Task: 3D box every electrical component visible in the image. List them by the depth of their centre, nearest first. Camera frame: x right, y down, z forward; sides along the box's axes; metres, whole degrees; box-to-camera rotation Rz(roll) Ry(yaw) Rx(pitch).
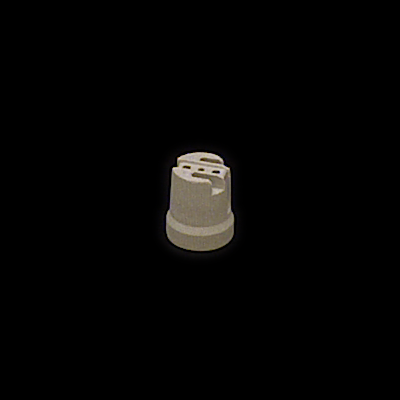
[{"bbox_3d":[0.000,0.000,0.637,0.040,0.046,0.040,0,32,0],"label":"electrical component"}]
